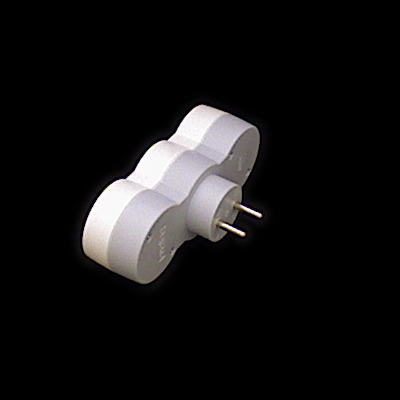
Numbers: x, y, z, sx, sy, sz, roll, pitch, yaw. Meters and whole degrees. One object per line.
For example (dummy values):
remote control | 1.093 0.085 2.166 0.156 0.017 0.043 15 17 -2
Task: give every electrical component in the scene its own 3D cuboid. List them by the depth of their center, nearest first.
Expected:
electrical component | 0.000 0.000 0.636 0.073 0.052 0.137 25 46 21
